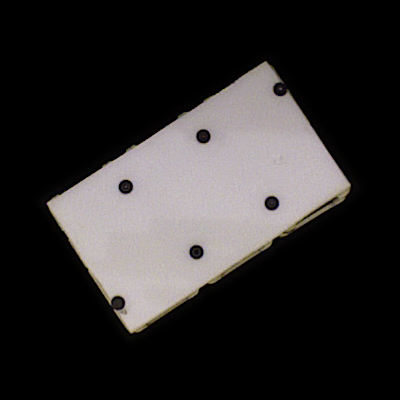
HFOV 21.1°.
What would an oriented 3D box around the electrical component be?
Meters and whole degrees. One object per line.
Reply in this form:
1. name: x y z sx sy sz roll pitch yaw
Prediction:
1. electrical component: 0.000 0.000 0.631 0.150 0.089 0.061 -33 -5 -4
